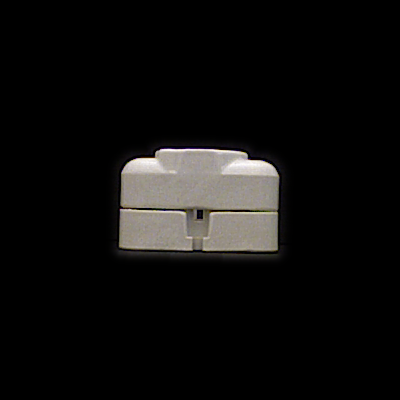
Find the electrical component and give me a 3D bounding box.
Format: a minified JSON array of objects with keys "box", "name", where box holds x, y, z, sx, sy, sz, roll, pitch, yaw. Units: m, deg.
[{"box":[0.000,0.000,0.655,0.095,0.059,0.053,1,1,1],"name":"electrical component"}]
